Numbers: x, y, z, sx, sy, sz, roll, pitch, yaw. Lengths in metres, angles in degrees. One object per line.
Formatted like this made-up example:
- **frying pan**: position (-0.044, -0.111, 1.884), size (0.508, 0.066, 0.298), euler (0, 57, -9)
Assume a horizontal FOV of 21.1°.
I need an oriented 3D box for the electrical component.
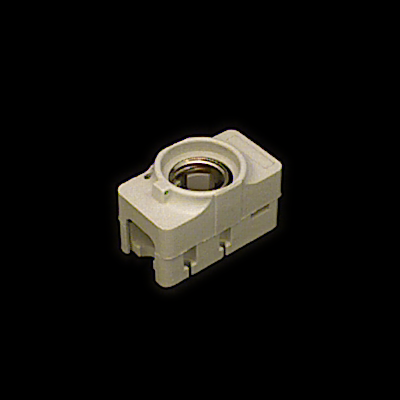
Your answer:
- **electrical component**: position (0.000, 0.000, 0.639), size (0.090, 0.056, 0.049), euler (-29, 50, -29)
